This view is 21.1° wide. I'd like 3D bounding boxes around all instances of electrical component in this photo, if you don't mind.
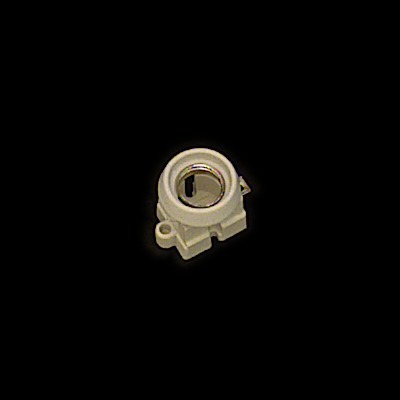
[{"bbox_3d":[0.000,0.000,0.638,0.067,0.048,0.055,-29,-21,-13],"label":"electrical component"}]
